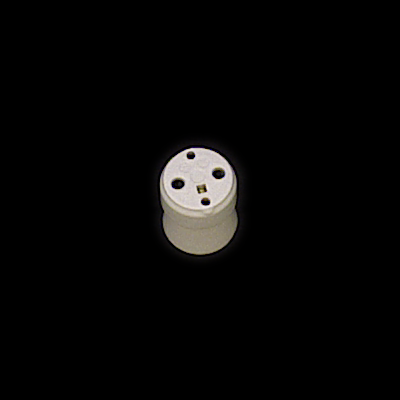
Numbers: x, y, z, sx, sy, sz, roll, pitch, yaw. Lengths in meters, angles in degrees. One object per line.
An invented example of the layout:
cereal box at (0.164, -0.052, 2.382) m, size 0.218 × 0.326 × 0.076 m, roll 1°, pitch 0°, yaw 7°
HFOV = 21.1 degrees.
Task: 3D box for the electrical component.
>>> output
electrical component at (0.000, 0.000, 0.628) m, size 0.045 × 0.045 × 0.055 m, roll 0°, pitch -27°, yaw 0°
